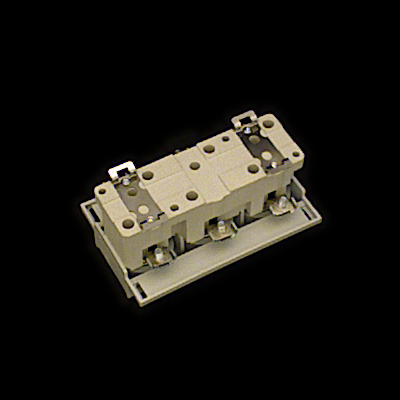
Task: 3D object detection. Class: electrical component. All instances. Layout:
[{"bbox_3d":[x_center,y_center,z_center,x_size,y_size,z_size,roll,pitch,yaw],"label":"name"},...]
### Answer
[{"bbox_3d":[0.000,0.000,0.634,0.122,0.078,0.063,-24,-33,-17],"label":"electrical component"}]
